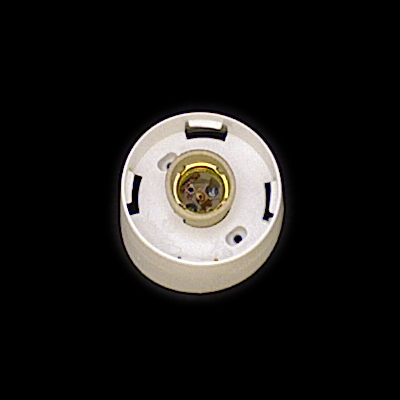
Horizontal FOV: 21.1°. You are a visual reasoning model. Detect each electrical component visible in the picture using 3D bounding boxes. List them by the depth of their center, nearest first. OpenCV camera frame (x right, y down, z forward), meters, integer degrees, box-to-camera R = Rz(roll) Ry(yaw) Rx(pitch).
[{"bbox_3d":[0.000,0.000,0.625,0.099,0.099,0.064,0,-17,0],"label":"electrical component"}]
